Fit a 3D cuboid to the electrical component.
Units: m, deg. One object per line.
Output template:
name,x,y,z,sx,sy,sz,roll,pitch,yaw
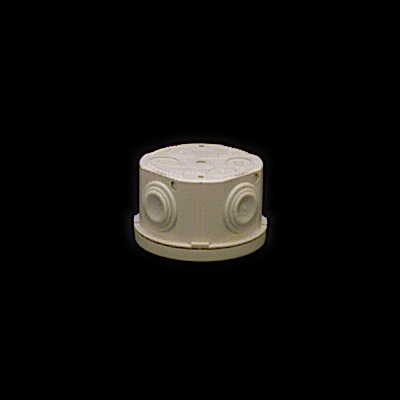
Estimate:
electrical component,0.000,0.000,0.642,0.080,0.051,0.079,1,20,0
